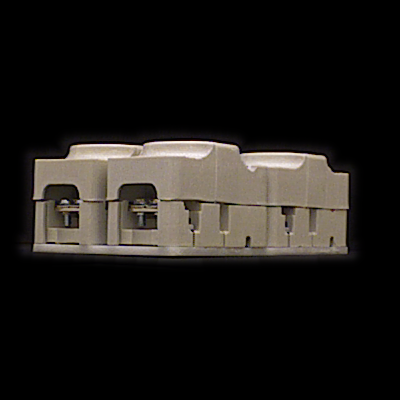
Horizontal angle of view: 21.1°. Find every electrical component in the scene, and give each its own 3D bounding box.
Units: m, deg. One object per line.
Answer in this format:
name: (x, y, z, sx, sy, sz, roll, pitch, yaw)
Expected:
electrical component: (0.000, 0.000, 0.651, 0.105, 0.060, 0.187, 1, -1, 37)
